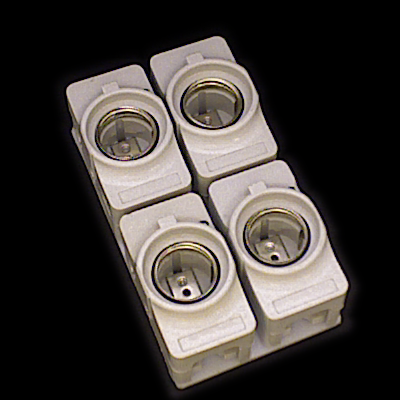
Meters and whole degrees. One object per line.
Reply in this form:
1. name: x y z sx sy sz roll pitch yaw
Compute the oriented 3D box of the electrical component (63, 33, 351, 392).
1. electrical component: 0.000 0.000 0.625 0.106 0.186 0.060 -20 -26 -10
